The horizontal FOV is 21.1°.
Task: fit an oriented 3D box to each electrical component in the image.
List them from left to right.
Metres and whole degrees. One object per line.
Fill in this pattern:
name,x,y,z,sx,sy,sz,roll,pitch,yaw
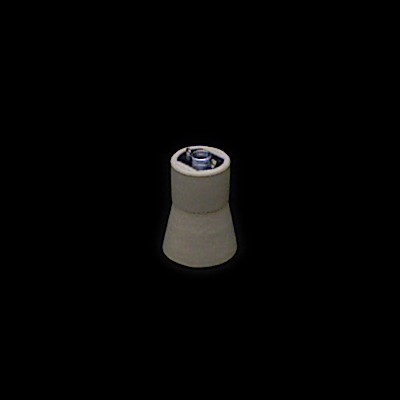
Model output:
electrical component,0.000,0.000,0.632,0.044,0.066,0.044,0,32,0
